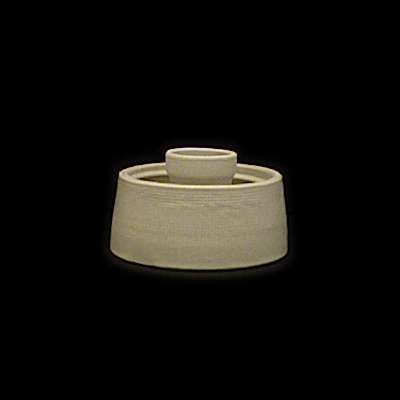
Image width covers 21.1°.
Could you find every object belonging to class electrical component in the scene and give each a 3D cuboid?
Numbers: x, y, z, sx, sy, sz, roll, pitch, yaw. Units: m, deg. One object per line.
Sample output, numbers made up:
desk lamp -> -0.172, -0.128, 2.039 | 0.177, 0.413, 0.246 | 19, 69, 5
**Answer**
electrical component -> 0.000, 0.000, 0.649 | 0.108, 0.061, 0.107 | 2, 11, 0
